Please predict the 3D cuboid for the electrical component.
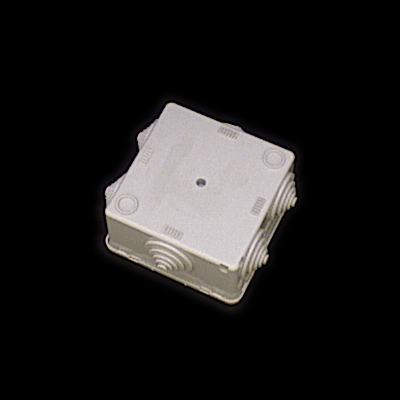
[{"bbox_3d":[0.000,0.000,0.631,0.099,0.100,0.048,23,-24,11],"label":"electrical component"}]
